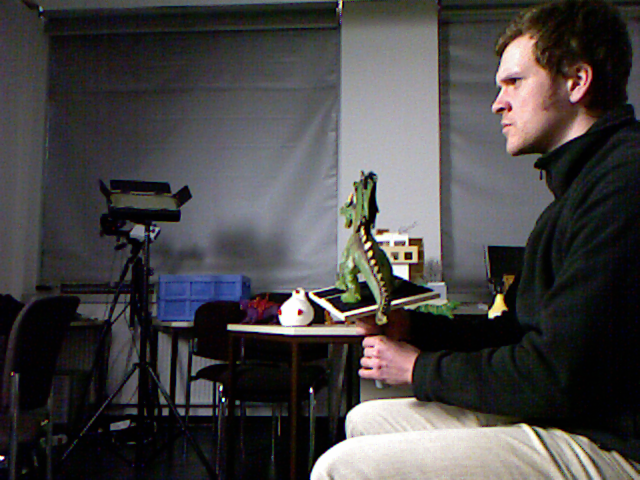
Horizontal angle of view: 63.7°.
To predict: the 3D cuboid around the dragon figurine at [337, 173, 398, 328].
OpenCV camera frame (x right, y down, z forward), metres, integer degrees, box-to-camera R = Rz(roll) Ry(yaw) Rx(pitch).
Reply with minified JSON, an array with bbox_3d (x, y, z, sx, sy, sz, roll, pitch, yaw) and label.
[{"bbox_3d":[0.089,-0.008,1.009,0.122,0.241,0.414,-7,12,-6],"label":"dragon figurine"}]
